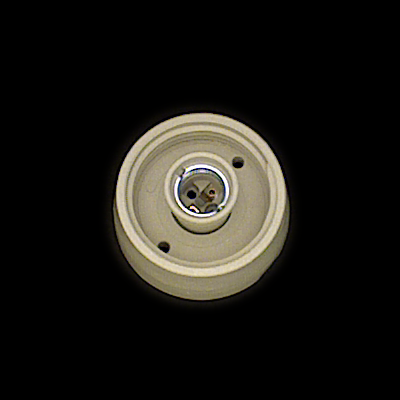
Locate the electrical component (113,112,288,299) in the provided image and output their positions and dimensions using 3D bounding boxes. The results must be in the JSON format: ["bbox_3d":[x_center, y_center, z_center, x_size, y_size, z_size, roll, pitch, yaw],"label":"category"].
[{"bbox_3d":[0.000,0.000,0.633,0.108,0.108,0.060,0,-16,0],"label":"electrical component"}]
